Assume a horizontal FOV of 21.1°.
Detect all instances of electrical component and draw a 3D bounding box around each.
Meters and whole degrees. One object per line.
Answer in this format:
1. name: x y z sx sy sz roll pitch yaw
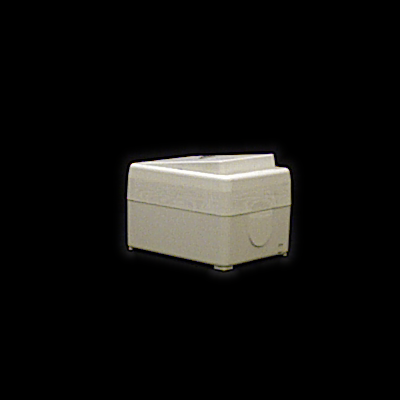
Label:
1. electrical component: 0.000 0.000 0.646 0.095 0.061 0.061 10 14 40
